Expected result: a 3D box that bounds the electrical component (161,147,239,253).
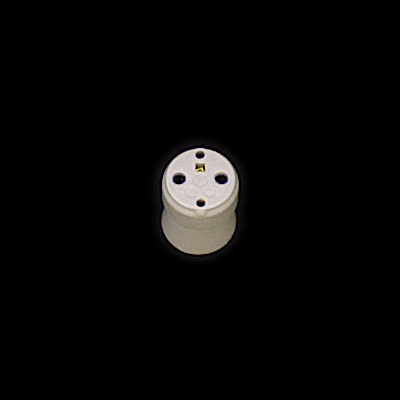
[{"bbox_3d":[0.000,0.000,0.629,0.045,0.045,0.055,0,-27,-1],"label":"electrical component"}]
